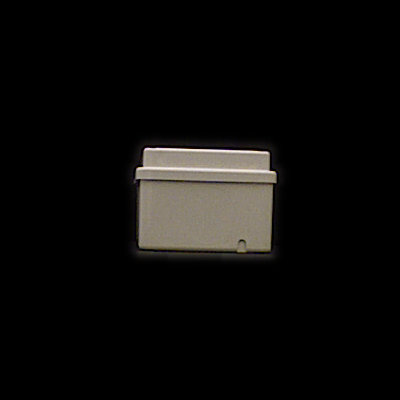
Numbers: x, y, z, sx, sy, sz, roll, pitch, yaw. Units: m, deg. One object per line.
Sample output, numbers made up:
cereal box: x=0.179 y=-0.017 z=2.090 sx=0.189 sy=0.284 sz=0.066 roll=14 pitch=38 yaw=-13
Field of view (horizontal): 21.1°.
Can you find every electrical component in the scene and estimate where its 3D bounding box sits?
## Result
electrical component: x=0.000 y=0.000 z=0.649 sx=0.078 sy=0.057 sz=0.113 roll=1 pitch=0 yaw=-4
